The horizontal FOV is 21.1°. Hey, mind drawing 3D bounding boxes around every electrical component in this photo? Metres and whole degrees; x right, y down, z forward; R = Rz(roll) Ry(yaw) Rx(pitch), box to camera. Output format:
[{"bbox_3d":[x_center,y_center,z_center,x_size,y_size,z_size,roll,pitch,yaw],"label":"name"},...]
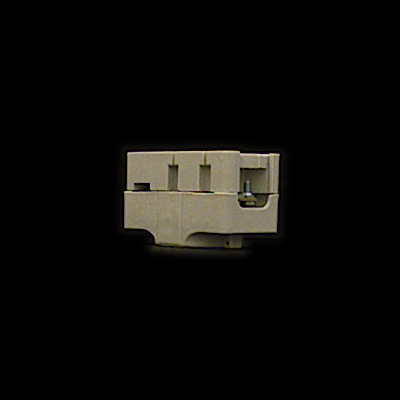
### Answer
[{"bbox_3d":[0.000,0.000,0.657,0.088,0.056,0.050,3,2,44],"label":"electrical component"}]
